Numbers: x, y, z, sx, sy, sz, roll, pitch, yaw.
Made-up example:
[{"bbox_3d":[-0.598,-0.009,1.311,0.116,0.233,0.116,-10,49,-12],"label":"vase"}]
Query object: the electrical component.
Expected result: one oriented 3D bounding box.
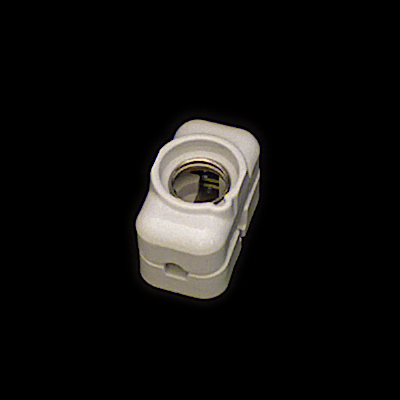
[{"bbox_3d":[0.000,0.000,0.635,0.053,0.095,0.059,14,-35,11],"label":"electrical component"}]
